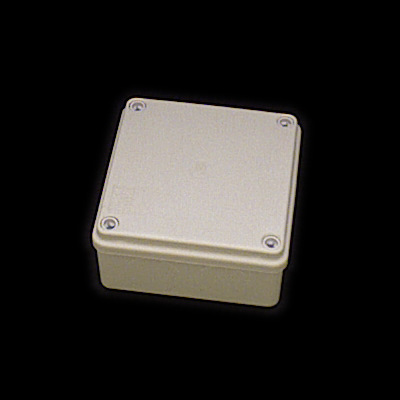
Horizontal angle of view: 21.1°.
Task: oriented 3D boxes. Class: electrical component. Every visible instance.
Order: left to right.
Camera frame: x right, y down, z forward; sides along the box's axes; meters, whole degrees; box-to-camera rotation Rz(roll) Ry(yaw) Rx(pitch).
[{"bbox_3d":[0.000,0.000,0.631,0.109,0.108,0.056,7,-38,4],"label":"electrical component"}]
